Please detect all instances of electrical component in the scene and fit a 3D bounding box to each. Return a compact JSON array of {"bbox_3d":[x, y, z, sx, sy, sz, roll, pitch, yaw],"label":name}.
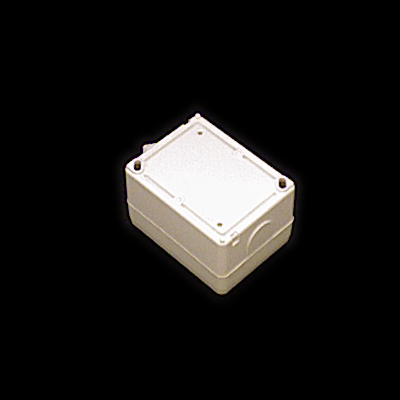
[{"bbox_3d":[0.000,0.000,0.631,0.096,0.061,0.062,38,61,26],"label":"electrical component"}]
